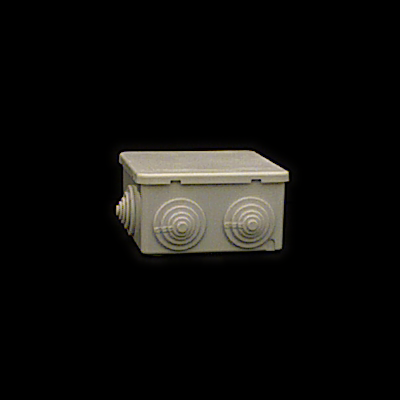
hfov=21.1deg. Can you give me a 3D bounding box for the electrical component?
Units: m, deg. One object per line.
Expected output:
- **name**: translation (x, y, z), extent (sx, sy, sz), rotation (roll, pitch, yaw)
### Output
- **electrical component**: translation (0.000, 0.000, 0.650), extent (0.100, 0.049, 0.098), rotation (-1, 11, -12)
